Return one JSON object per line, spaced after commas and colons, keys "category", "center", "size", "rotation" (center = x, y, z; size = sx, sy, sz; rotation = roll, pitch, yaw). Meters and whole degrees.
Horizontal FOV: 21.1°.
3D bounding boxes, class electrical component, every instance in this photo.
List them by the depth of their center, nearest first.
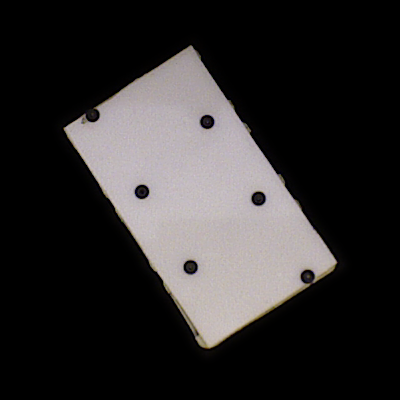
{"category": "electrical component", "center": [0.000, 0.000, 0.631], "size": [0.089, 0.150, 0.061], "rotation": [-33, -5, -3]}
